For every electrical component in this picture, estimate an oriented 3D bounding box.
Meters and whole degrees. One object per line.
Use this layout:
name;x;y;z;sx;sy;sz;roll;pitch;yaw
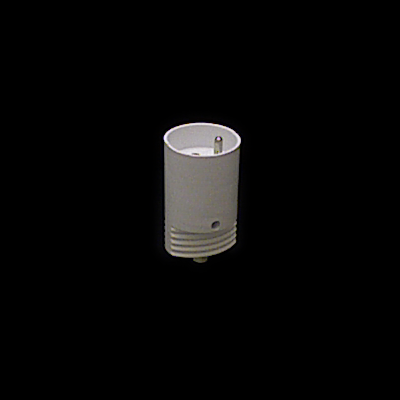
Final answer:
electrical component;0.000;0.000;0.631;0.043;0.082;0.042;1;32;-1
